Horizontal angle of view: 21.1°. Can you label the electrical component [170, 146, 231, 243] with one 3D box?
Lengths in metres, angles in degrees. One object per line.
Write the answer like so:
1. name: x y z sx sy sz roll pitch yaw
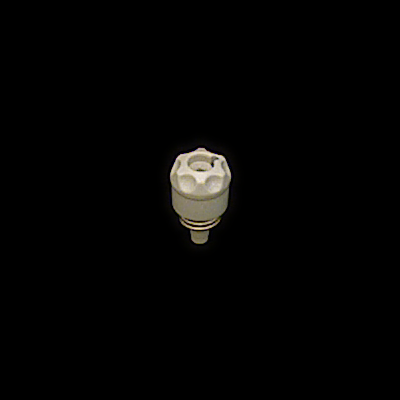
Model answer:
1. electrical component: 0.000 0.000 0.638 0.035 0.062 0.035 1 43 0
